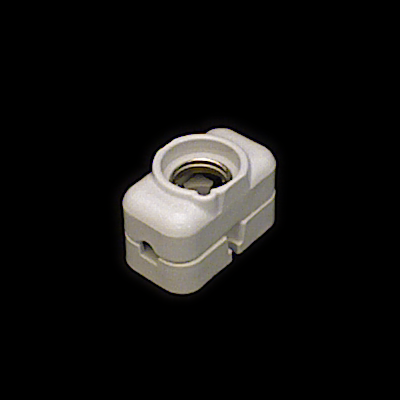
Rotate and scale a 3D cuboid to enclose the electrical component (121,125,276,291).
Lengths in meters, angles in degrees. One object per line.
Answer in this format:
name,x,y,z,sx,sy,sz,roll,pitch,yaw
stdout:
electrical component,0.000,0.000,0.637,0.053,0.060,0.095,29,50,28
